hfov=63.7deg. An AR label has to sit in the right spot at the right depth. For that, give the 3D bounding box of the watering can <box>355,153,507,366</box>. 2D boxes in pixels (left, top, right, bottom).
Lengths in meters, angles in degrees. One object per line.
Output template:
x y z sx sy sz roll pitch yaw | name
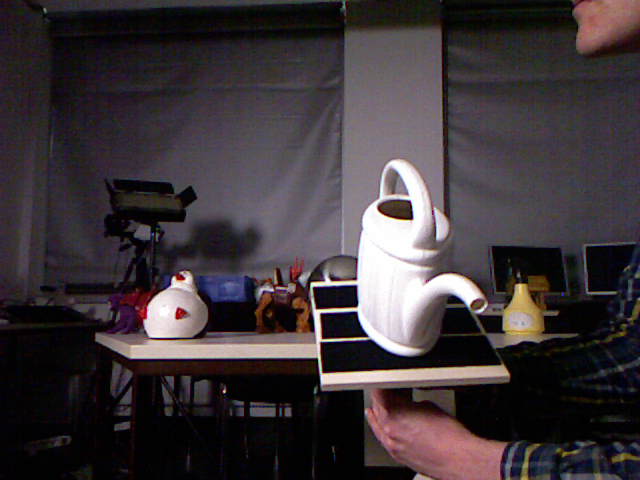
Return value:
0.099 0.043 0.556 0.105 0.221 0.358 -3 30 -5 | watering can
